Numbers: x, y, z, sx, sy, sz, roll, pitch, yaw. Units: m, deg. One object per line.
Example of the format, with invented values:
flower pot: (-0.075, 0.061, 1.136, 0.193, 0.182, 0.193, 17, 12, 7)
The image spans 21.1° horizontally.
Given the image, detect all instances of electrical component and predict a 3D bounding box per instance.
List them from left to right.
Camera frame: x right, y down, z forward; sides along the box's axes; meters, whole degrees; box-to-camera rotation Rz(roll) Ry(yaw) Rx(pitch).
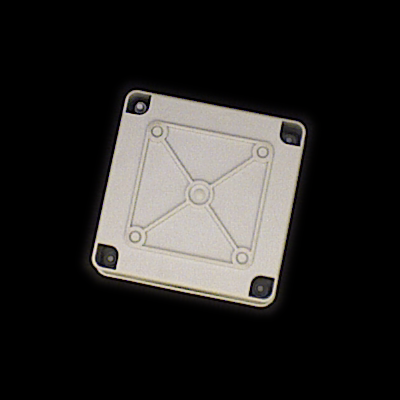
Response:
electrical component: (0.000, 0.000, 0.629, 0.109, 0.109, 0.056, 11, -7, 1)
